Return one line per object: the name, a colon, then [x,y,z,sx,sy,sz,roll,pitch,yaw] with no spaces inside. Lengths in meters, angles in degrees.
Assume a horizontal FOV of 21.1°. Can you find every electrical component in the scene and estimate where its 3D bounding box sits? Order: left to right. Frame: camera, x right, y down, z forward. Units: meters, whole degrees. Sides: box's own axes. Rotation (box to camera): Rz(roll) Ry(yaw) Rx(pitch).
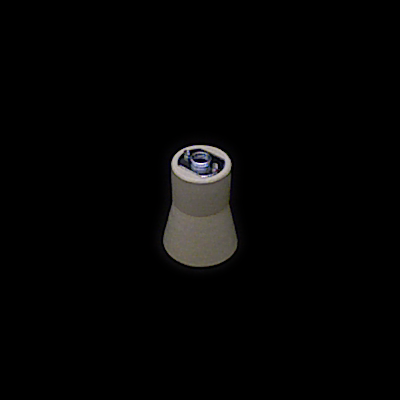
electrical component: [0.000,0.000,0.630,0.044,0.066,0.044,1,41,-1]
